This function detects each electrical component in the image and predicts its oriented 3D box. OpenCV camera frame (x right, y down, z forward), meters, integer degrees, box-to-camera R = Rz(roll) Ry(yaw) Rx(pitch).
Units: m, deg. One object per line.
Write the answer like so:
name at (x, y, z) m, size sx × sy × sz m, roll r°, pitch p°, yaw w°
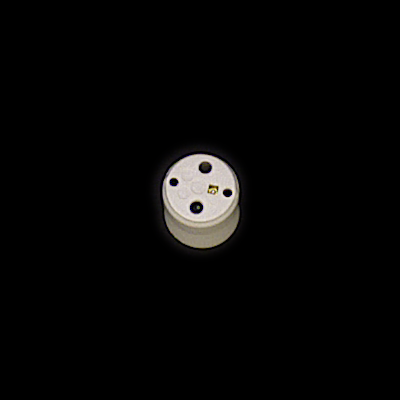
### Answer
electrical component at (0.000, 0.000, 0.628) m, size 0.045 × 0.045 × 0.055 m, roll 0°, pitch -16°, yaw 1°
